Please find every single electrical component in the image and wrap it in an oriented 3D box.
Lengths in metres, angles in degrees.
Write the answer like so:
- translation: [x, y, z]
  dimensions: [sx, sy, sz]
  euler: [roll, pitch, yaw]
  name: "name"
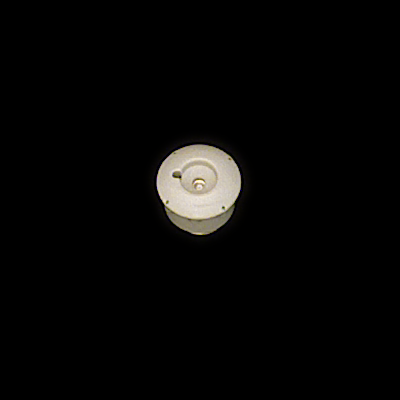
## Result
- translation: [0.000, 0.000, 0.632]
  dimensions: [0.048, 0.048, 0.062]
  euler: [0, -27, 0]
  name: "electrical component"
